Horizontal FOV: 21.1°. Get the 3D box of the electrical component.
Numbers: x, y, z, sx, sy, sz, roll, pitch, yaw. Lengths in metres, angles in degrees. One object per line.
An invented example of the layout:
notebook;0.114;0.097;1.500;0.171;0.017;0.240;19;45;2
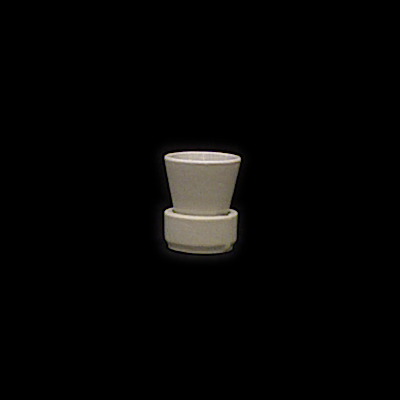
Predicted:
electrical component;0.000;0.000;0.646;0.045;0.055;0.044;2;11;0
